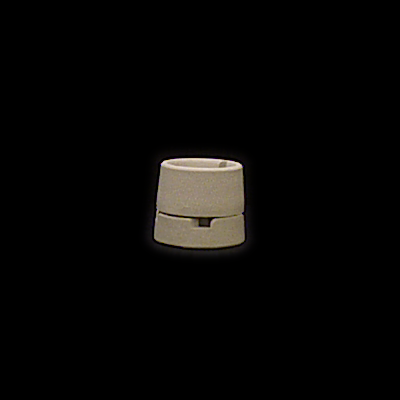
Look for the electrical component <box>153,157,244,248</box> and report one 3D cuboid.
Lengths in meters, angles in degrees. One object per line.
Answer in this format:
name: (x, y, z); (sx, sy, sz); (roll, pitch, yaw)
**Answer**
electrical component: (0.000, 0.000, 0.647); (0.055, 0.047, 0.055); (2, 10, 0)
